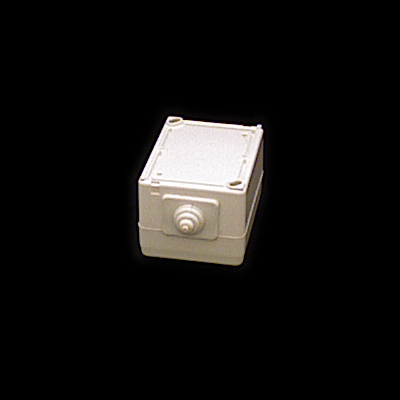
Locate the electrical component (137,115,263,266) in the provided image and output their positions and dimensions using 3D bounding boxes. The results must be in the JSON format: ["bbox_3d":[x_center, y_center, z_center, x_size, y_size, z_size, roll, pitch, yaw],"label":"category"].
[{"bbox_3d":[0.000,0.000,0.634,0.061,0.061,0.095,6,33,8],"label":"electrical component"}]
